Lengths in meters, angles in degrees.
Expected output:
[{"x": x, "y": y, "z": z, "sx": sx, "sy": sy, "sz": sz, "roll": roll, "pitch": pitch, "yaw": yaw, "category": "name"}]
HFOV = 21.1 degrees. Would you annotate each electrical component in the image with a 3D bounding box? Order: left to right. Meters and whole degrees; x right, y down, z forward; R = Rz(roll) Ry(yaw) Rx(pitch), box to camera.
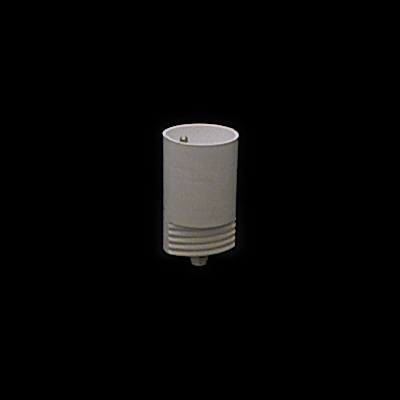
[{"x": 0.000, "y": 0.000, "z": 0.632, "sx": 0.043, "sy": 0.082, "sz": 0.042, "roll": 0, "pitch": 21, "yaw": 0, "category": "electrical component"}]
